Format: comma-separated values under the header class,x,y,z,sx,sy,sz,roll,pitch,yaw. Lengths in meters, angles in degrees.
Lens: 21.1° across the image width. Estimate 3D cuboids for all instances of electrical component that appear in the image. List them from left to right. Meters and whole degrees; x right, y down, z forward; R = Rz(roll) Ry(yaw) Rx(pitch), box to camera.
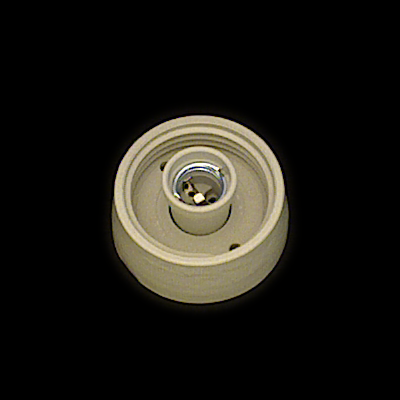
class,x,y,z,sx,sy,sz,roll,pitch,yaw
electrical component,0.000,0.000,0.633,0.108,0.108,0.060,0,-26,-1
